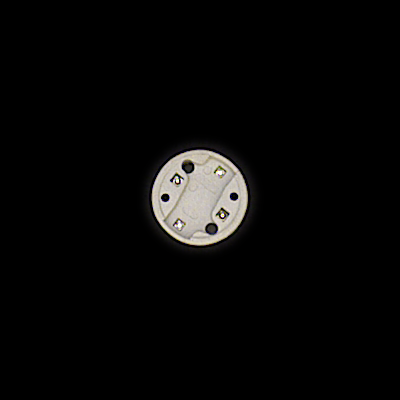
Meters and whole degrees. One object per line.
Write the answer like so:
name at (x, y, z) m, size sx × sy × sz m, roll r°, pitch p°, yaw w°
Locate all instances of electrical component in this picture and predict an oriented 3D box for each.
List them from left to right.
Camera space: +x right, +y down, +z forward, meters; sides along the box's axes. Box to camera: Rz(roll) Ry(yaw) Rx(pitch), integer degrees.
electrical component at (0.000, 0.000, 0.636) m, size 0.055 × 0.055 × 0.047 m, roll 0°, pitch -6°, yaw 0°
